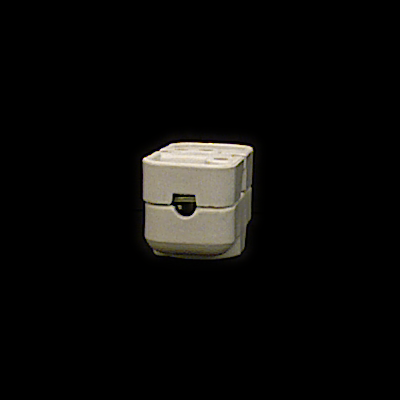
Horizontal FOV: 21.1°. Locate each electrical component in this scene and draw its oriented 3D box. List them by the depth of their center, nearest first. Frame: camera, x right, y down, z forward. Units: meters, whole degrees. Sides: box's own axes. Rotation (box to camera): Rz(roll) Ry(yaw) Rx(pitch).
[{"bbox_3d":[0.000,0.000,0.650,0.053,0.060,0.094,3,12,10],"label":"electrical component"}]
